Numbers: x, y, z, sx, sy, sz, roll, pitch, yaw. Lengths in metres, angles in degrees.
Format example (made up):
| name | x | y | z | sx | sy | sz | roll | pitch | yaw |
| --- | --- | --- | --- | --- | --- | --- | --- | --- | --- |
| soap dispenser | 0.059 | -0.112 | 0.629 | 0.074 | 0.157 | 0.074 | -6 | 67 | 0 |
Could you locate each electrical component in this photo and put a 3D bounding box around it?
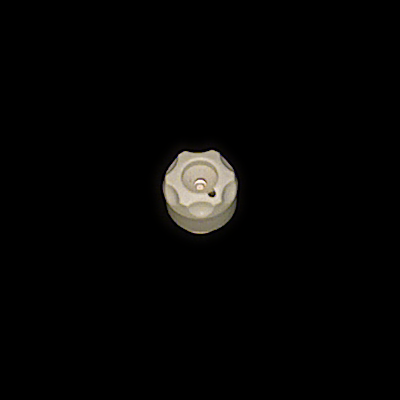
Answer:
| name | x | y | z | sx | sy | sz | roll | pitch | yaw |
| --- | --- | --- | --- | --- | --- | --- | --- | --- | --- |
| electrical component | 0.000 | 0.000 | 0.634 | 0.043 | 0.043 | 0.062 | 0 | -27 | 1 |
